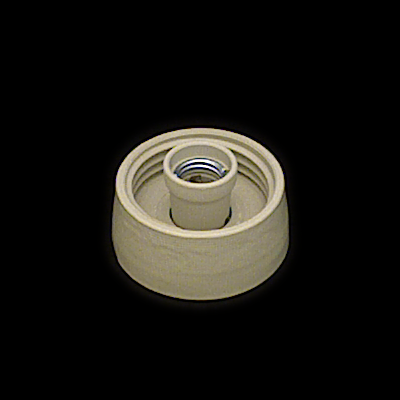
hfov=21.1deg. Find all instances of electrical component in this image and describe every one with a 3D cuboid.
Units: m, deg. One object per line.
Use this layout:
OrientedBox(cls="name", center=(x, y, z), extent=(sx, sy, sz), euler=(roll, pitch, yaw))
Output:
OrientedBox(cls="electrical component", center=(0.000, 0.000, 0.637), extent=(0.108, 0.061, 0.107), euler=(1, 43, 0))
